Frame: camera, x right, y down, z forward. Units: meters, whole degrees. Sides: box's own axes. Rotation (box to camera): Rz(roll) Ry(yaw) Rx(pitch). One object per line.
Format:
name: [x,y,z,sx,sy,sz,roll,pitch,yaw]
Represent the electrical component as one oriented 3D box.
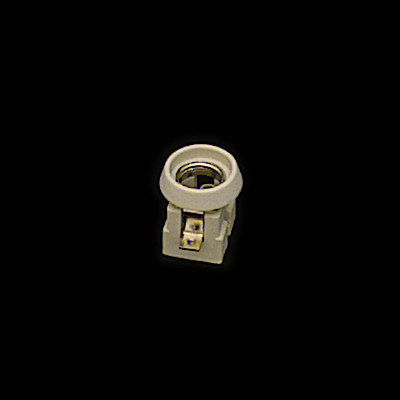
electrical component: [0.000,0.000,0.639,0.048,0.056,0.066,6,43,9]
